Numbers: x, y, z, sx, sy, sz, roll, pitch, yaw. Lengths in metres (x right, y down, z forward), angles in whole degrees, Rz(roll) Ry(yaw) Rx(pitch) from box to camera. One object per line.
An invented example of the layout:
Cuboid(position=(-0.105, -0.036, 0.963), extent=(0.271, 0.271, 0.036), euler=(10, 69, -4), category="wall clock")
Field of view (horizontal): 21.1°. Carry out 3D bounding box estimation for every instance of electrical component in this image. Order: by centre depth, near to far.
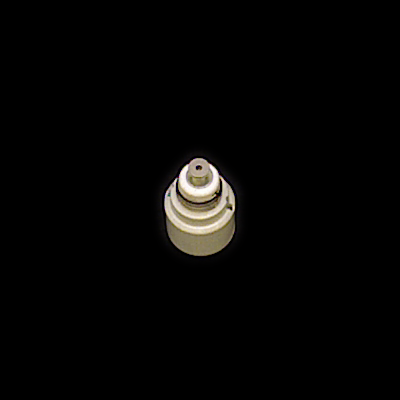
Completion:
Cuboid(position=(0.000, 0.000, 0.618), extent=(0.040, 0.040, 0.078), euler=(0, -27, 1), category="electrical component")
